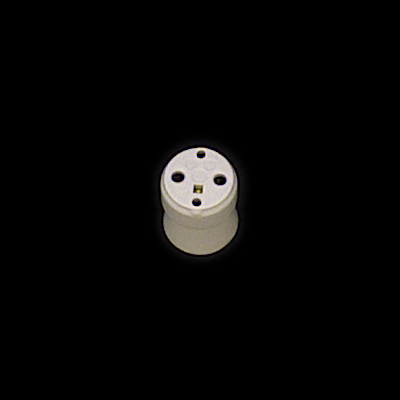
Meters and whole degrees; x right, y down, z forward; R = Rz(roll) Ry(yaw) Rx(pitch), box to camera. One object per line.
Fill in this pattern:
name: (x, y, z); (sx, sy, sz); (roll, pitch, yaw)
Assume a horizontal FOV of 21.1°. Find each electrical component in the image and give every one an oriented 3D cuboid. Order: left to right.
electrical component: (0.000, 0.000, 0.629); (0.045, 0.045, 0.055); (0, -27, 0)
